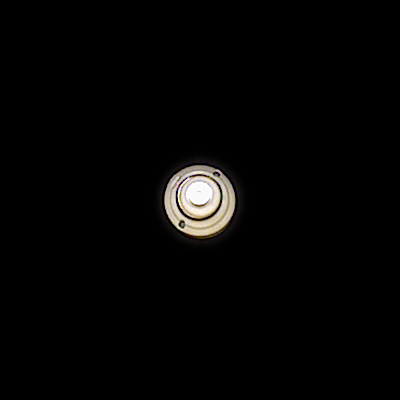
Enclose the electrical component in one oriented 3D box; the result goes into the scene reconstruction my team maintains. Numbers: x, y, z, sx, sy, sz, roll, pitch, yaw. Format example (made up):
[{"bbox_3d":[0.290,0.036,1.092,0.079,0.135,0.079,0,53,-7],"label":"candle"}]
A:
[{"bbox_3d":[0.000,0.000,0.618,0.040,0.040,0.078,0,-5,0],"label":"electrical component"}]
